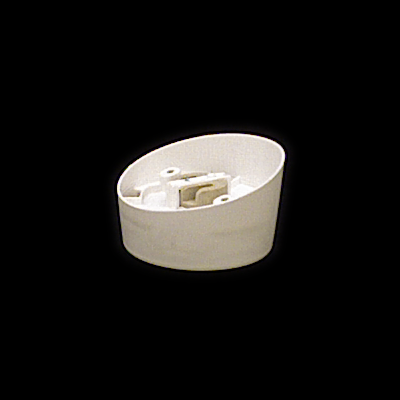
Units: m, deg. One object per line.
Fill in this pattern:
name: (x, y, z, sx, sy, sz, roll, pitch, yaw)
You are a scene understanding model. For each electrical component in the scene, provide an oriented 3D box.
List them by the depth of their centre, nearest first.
electrical component: (0.000, 0.000, 0.639, 0.099, 0.065, 0.097, 1, 20, 0)
